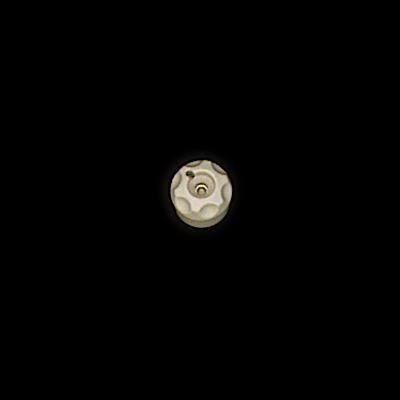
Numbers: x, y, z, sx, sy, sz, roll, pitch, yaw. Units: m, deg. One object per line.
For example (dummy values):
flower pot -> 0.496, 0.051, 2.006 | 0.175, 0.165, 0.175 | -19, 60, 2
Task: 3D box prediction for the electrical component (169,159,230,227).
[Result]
electrical component -> 0.000, 0.000, 0.634 | 0.035, 0.035, 0.061 | 0, -16, 1
